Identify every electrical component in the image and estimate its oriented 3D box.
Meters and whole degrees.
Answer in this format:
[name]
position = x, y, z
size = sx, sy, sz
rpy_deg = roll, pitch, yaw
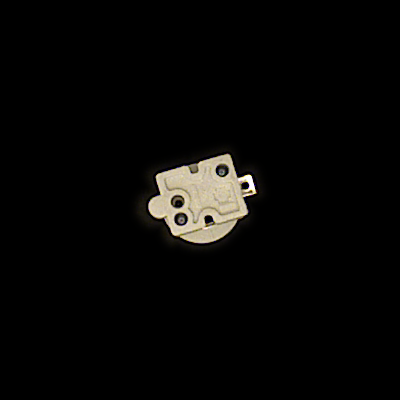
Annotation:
[electrical component]
position = 0.000, 0.000, 0.639
size = 0.066, 0.048, 0.055
rpy_deg = -16, -7, -2
